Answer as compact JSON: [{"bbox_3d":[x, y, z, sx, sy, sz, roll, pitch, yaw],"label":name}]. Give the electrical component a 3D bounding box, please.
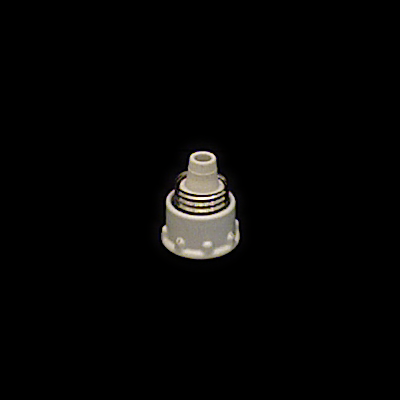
[{"bbox_3d":[0.000,0.000,0.642,0.048,0.063,0.047,2,32,-1],"label":"electrical component"}]
